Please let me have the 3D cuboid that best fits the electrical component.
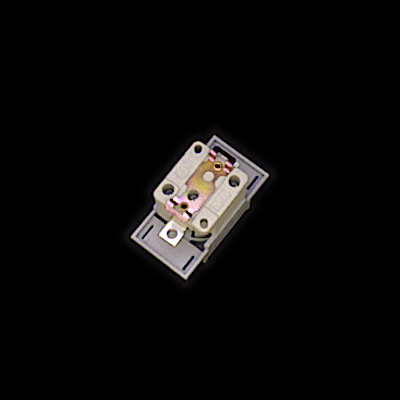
[{"bbox_3d":[0.000,0.000,0.625,0.042,0.081,0.063,36,-13,10],"label":"electrical component"}]
